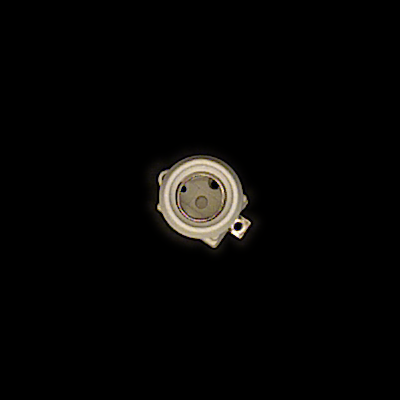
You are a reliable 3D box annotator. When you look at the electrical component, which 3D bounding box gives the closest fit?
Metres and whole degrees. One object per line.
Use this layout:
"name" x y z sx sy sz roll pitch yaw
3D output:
"electrical component" 0.000 0.000 0.639 0.066 0.048 0.055 33 -2 4
